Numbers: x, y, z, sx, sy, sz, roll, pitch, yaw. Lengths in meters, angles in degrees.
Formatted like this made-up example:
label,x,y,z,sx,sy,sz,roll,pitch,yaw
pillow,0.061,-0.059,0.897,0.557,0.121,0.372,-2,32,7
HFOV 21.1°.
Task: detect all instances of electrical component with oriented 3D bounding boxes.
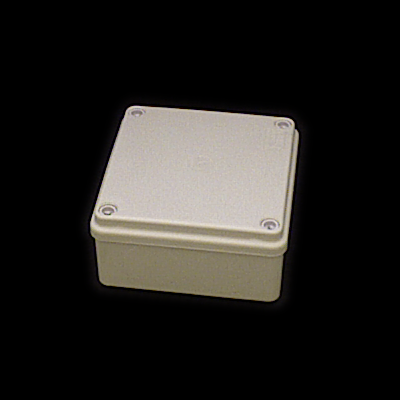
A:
label,x,y,z,sx,sy,sz,roll,pitch,yaw
electrical component,0.000,0.000,0.631,0.108,0.056,0.108,5,42,5
